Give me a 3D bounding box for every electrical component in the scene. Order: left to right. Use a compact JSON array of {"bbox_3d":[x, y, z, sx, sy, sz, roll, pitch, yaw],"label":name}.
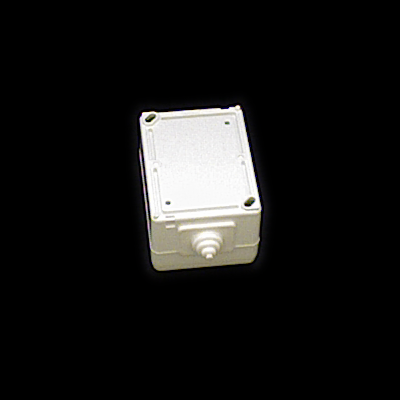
[{"bbox_3d":[-0.001,0.000,0.623,0.062,0.096,0.061,-5,-38,-5],"label":"electrical component"}]
